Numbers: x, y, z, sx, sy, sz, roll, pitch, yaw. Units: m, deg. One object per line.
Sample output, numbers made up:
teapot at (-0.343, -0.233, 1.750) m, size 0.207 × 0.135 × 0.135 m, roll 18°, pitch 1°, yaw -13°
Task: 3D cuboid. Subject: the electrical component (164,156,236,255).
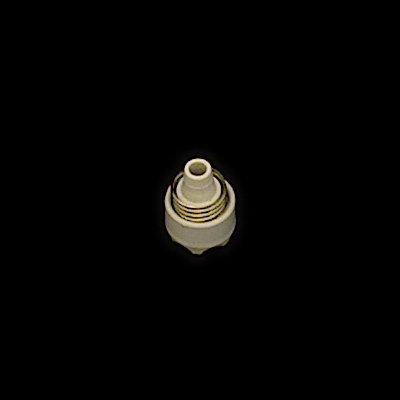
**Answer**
electrical component at (0.000, 0.000, 0.635) m, size 0.043 × 0.043 × 0.062 m, roll 0°, pitch -37°, yaw 1°
